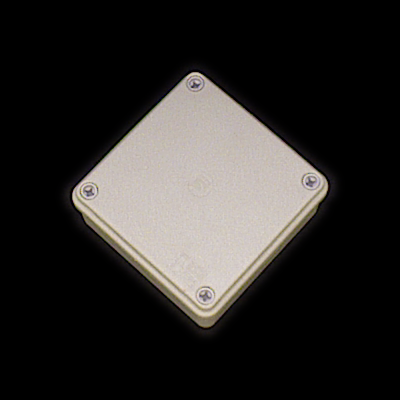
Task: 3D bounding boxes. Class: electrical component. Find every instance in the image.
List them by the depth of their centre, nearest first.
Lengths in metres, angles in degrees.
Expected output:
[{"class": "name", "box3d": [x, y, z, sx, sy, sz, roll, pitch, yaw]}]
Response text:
[{"class": "electrical component", "box3d": [0.000, 0.000, 0.630, 0.109, 0.109, 0.056, 41, -13, 11]}]
